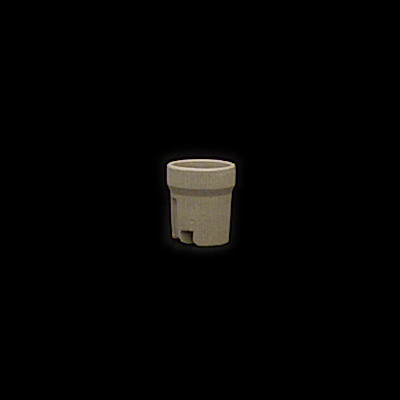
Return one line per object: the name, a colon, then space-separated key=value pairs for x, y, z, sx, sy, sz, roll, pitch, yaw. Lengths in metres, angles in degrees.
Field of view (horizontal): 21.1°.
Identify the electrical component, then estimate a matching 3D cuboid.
electrical component: x=0.000 y=0.000 z=0.643 sx=0.040 sy=0.046 sz=0.040 roll=1 pitch=11 yaw=0
